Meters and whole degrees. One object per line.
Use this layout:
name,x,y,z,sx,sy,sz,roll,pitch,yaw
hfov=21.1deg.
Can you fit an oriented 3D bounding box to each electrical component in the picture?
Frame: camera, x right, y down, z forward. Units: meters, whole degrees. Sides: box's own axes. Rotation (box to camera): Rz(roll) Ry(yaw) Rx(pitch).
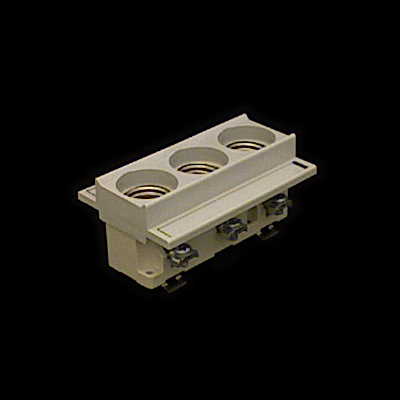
electrical component,0.000,0.000,0.646,0.121,0.064,0.077,-26,39,-36
